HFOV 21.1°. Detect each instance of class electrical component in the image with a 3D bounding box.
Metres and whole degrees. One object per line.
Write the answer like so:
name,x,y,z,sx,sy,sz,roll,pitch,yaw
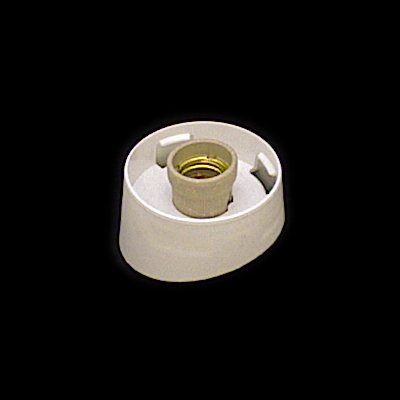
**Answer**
electrical component,0.000,0.000,0.630,0.099,0.065,0.098,0,42,0
